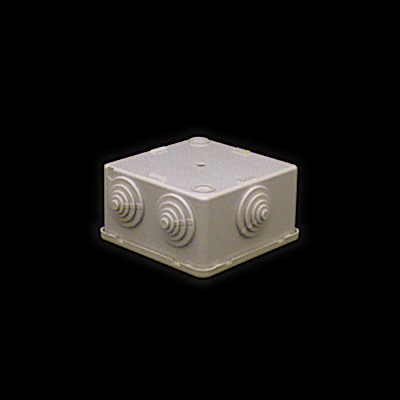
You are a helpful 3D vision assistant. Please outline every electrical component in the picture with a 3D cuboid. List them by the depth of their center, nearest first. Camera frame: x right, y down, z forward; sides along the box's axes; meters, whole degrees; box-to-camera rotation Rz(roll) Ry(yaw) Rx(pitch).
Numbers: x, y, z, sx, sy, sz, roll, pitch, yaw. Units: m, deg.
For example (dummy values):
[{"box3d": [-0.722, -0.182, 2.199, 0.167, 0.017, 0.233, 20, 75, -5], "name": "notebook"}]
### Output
[{"box3d": [0.000, 0.000, 0.641, 0.099, 0.049, 0.099, 19, 27, 39], "name": "electrical component"}]
